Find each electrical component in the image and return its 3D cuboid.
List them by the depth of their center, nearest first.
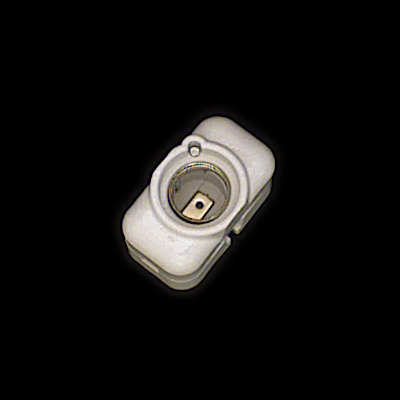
[{"bbox_3d":[0.000,0.000,0.634,0.053,0.096,0.059,36,-13,9],"label":"electrical component"}]
